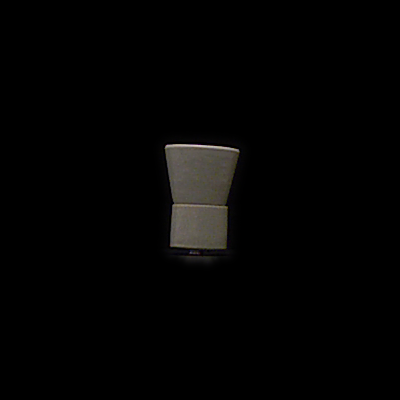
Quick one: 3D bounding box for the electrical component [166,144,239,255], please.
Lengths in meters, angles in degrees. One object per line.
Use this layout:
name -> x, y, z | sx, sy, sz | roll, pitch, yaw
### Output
electrical component -> 0.000, 0.000, 0.652 | 0.044, 0.065, 0.044 | 2, 0, 0
